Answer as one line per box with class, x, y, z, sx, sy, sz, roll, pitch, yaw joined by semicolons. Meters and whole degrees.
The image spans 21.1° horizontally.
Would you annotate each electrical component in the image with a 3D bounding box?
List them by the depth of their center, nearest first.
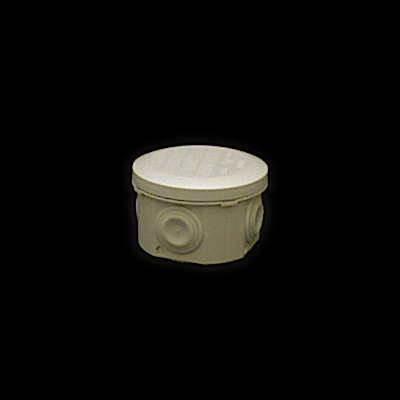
electrical component;0.000;0.000;0.638;0.080;0.051;0.079;1;21;0
